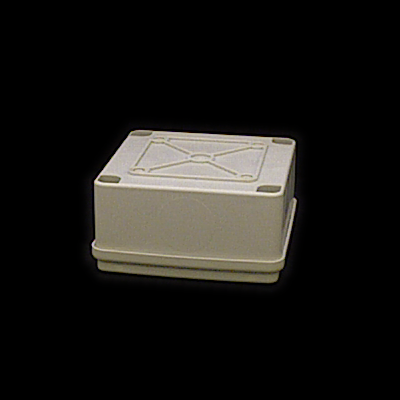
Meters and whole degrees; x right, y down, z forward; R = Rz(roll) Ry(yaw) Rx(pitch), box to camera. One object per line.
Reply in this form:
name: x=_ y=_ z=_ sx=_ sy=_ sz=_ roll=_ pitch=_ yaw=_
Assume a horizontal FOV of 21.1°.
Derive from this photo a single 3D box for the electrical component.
electrical component: x=0.000 y=0.000 z=0.637 sx=0.108 sy=0.057 sz=0.107 roll=4 pitch=21 yaw=8
